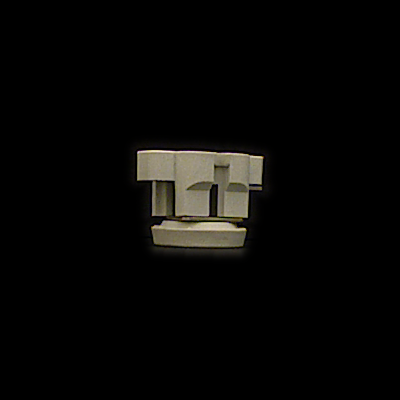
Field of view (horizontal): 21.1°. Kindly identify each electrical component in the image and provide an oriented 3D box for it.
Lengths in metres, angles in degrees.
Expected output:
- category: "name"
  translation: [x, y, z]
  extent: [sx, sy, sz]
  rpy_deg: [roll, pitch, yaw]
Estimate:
- category: "electrical component"
  translation: [0.000, 0.000, 0.658]
  extent: [0.079, 0.057, 0.057]
  rpy_deg: [2, 0, -30]
